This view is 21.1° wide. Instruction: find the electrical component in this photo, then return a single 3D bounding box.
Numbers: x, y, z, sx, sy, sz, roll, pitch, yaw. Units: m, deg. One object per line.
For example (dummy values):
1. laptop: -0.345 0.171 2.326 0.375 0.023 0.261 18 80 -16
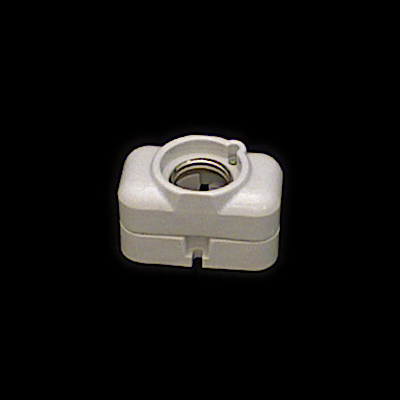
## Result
1. electrical component: 0.000 0.000 0.639 0.095 0.060 0.053 4 43 3
